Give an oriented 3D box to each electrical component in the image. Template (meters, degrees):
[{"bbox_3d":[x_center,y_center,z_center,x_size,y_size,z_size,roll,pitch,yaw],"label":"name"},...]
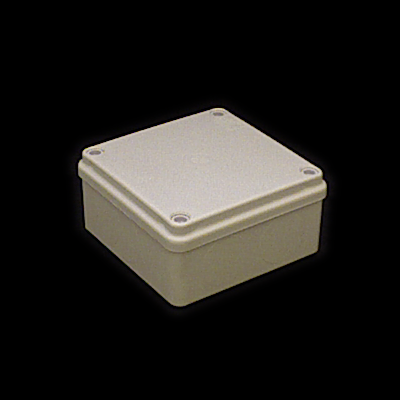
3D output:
[{"bbox_3d":[0.000,0.000,0.634,0.109,0.057,0.107,-20,37,-30],"label":"electrical component"}]
